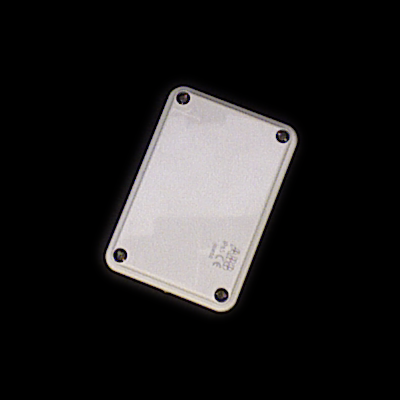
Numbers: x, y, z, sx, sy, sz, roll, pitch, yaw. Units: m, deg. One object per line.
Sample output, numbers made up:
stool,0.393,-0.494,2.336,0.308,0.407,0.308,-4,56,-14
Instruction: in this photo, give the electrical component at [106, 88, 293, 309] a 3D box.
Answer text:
electrical component,0.000,0.000,0.627,0.078,0.113,0.057,21,-6,3
